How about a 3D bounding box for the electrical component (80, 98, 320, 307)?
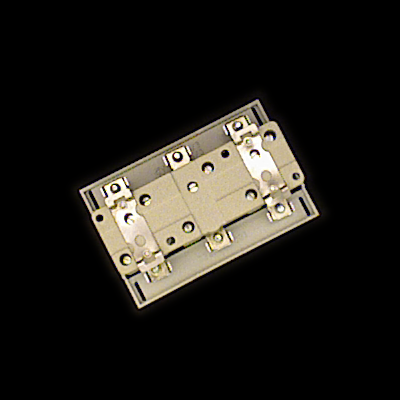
[{"bbox_3d":[0.000,0.000,0.634,0.121,0.079,0.063,-27,-5,-3],"label":"electrical component"}]
